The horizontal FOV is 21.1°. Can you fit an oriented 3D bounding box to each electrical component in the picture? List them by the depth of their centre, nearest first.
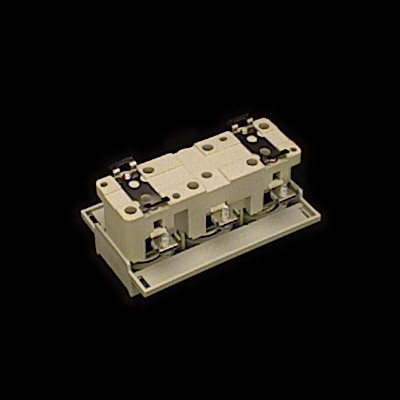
[{"bbox_3d":[0.000,0.000,0.639,0.122,0.063,0.077,-22,46,-24],"label":"electrical component"}]
